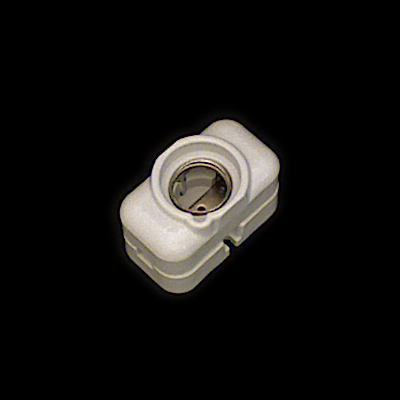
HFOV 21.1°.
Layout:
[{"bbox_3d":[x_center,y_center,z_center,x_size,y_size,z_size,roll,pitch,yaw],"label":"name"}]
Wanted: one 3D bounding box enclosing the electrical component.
[{"bbox_3d":[0.000,0.000,0.633,0.053,0.096,0.059,41,-19,19],"label":"electrical component"}]
